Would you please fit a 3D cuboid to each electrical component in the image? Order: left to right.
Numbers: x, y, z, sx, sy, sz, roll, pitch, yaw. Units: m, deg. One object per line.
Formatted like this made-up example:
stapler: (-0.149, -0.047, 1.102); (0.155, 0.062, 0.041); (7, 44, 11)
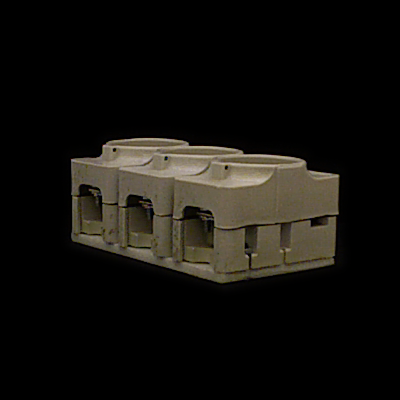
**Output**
electrical component: (0.000, 0.000, 0.649); (0.089, 0.062, 0.149); (-8, 13, -40)
